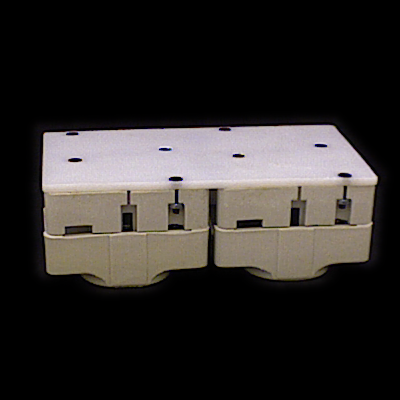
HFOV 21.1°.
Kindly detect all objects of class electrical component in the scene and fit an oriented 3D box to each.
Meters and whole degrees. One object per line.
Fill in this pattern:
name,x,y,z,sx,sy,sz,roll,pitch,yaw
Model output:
electrical component,0.000,0.000,0.638,0.186,0.061,0.104,-2,20,-8
